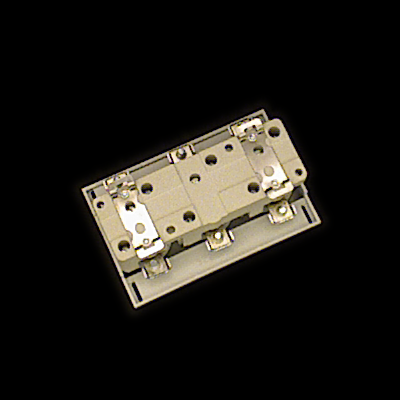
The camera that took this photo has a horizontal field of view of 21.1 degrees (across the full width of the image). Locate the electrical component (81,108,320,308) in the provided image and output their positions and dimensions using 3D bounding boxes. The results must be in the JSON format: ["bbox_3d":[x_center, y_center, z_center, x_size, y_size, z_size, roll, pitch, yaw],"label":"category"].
[{"bbox_3d":[0.000,0.000,0.633,0.122,0.079,0.062,-24,-14,-6],"label":"electrical component"}]
